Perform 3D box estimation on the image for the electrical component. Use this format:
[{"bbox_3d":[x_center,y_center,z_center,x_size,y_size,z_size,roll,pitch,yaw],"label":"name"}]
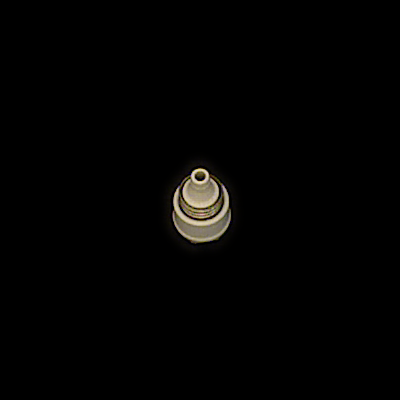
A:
[{"bbox_3d":[0.000,0.000,0.637,0.035,0.035,0.061,0,-28,1],"label":"electrical component"}]
